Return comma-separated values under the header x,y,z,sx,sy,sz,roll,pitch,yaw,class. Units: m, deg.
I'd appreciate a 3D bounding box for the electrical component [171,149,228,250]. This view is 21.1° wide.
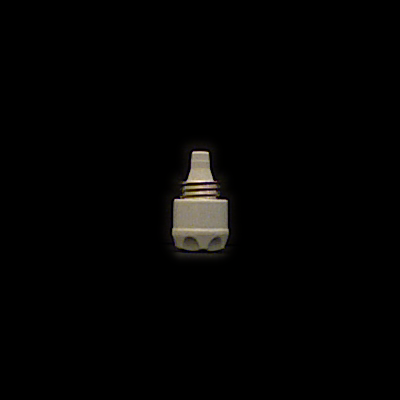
x,y,z,sx,sy,sz,roll,pitch,yaw,class
0.000,0.000,0.662,0.035,0.061,0.035,0,2,0,electrical component
